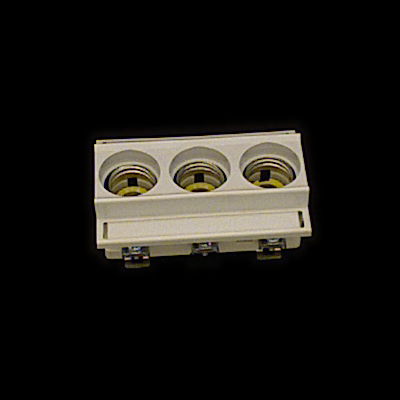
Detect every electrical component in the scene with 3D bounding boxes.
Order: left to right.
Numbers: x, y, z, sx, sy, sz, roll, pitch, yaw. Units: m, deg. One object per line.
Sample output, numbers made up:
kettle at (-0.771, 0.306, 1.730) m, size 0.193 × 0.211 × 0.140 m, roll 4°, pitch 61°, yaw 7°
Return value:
electrical component at (0.000, 0.000, 0.640) m, size 0.121 × 0.078 × 0.063 m, roll -3°, pitch -39°, yaw -2°
